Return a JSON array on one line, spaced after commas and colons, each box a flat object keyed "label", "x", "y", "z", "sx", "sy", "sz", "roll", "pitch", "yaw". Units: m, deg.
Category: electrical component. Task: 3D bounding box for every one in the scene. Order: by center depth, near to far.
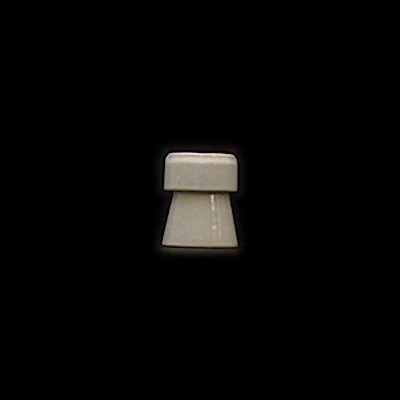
[{"label": "electrical component", "x": 0.000, "y": 0.000, "z": 0.648, "sx": 0.045, "sy": 0.055, "sz": 0.044, "roll": 1, "pitch": 1, "yaw": 0}]
